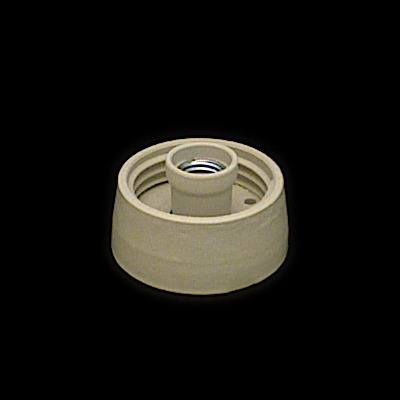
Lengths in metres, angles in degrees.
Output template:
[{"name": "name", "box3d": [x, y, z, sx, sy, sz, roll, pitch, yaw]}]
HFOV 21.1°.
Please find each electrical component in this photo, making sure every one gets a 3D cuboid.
[{"name": "electrical component", "box3d": [0.000, 0.000, 0.640, 0.108, 0.061, 0.106, 1, 32, 0]}]
